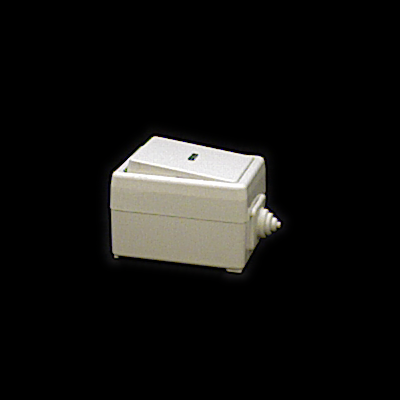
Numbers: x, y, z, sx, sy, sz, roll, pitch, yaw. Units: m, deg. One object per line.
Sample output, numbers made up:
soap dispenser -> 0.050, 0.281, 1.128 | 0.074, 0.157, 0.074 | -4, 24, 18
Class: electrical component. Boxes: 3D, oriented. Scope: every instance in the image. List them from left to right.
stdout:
electrical component -> 0.000, 0.000, 0.638 | 0.096, 0.061, 0.061 | 6, 21, 13
